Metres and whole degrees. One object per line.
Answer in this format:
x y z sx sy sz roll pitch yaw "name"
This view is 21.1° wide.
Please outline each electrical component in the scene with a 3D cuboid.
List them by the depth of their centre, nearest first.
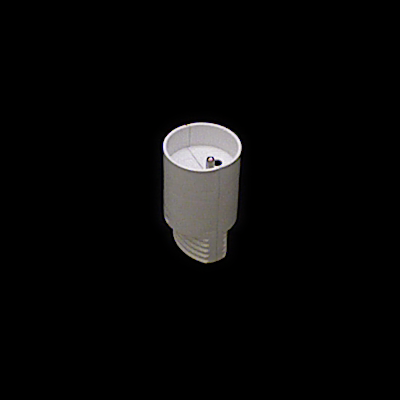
0.000 0.000 0.622 0.043 0.082 0.042 0 43 0 "electrical component"
